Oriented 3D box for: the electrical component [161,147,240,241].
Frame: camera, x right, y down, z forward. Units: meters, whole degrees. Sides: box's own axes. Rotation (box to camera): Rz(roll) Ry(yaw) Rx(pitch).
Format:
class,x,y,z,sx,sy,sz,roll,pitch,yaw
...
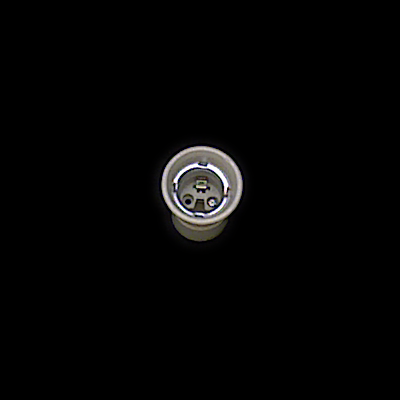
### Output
class,x,y,z,sx,sy,sz,roll,pitch,yaw
electrical component,0.000,0.000,0.624,0.044,0.044,0.065,0,-17,-1
